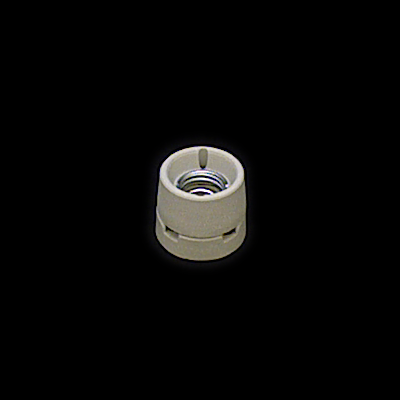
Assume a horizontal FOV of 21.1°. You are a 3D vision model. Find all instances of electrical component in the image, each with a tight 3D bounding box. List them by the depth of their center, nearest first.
[{"bbox_3d":[0.000,0.000,0.637,0.055,0.047,0.055,1,41,0],"label":"electrical component"}]
